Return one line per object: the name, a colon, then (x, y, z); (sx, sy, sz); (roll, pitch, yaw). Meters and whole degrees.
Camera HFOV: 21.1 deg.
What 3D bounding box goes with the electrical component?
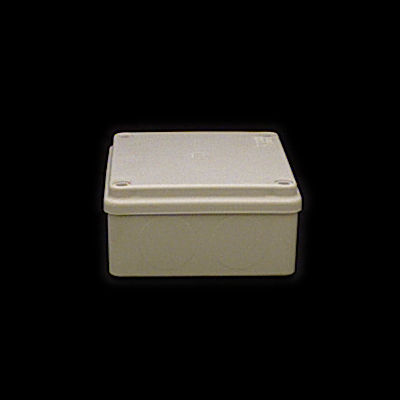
electrical component: (0.000, 0.000, 0.638); (0.109, 0.057, 0.107); (0, 21, -3)
